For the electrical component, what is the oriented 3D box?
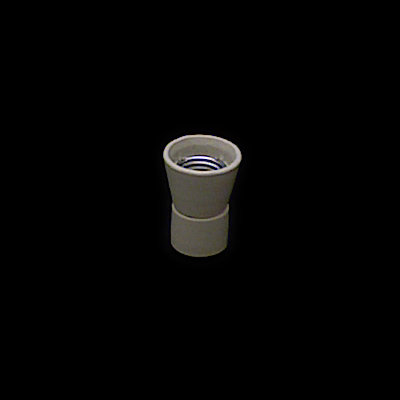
[{"bbox_3d":[0.000,0.000,0.632,0.044,0.066,0.044,2,32,-1],"label":"electrical component"}]
